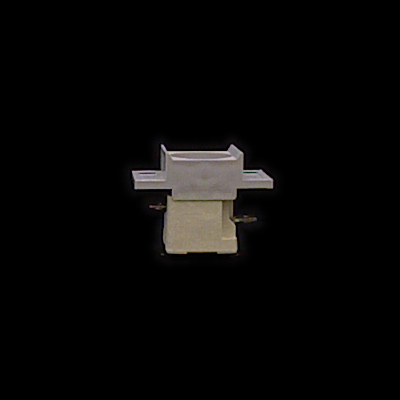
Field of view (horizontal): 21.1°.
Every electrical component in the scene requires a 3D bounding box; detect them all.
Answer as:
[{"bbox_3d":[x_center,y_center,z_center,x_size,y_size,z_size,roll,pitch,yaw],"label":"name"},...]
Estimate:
[{"bbox_3d":[0.000,0.000,0.644,0.081,0.064,0.042,0,10,-6],"label":"electrical component"}]
